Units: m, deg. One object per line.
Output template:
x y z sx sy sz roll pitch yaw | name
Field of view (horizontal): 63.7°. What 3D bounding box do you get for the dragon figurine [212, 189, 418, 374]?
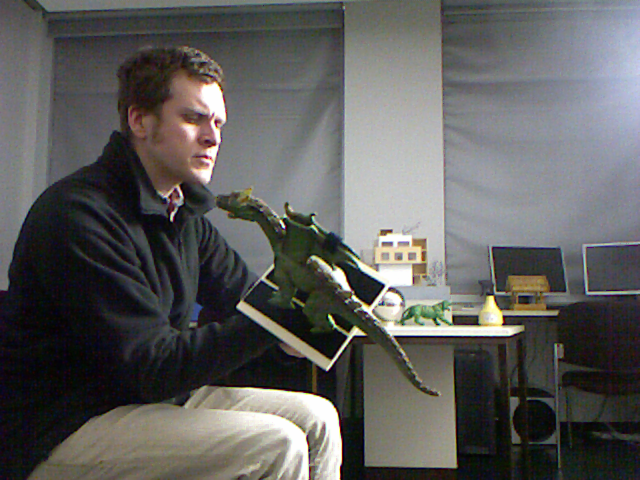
0.001 0.051 0.807 0.415 0.124 0.239 34 -21 16 | dragon figurine
